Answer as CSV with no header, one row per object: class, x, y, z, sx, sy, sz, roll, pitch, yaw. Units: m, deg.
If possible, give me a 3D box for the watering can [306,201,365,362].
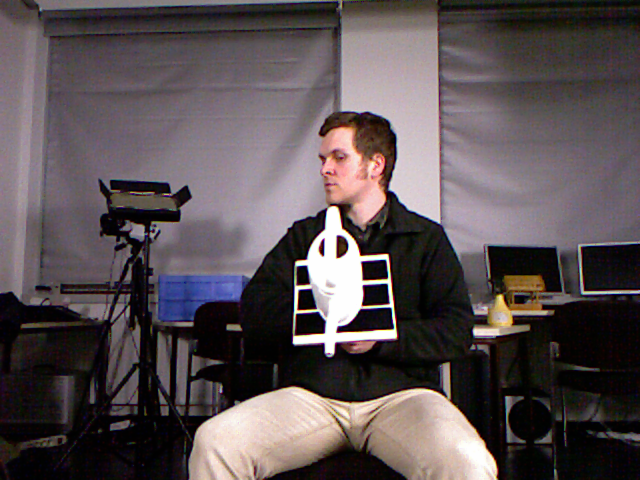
watering can,0.028,0.093,0.963,0.104,0.357,0.220,-3,-38,8
